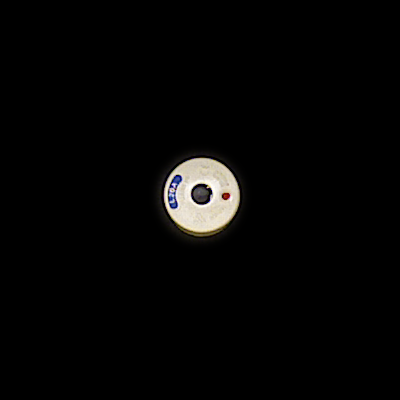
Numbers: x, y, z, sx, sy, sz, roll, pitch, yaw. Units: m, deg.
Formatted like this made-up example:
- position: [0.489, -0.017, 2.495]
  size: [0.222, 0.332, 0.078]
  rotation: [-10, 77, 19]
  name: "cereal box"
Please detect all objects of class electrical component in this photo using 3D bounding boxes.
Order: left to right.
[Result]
- position: [0.000, 0.000, 0.617]
  size: [0.040, 0.040, 0.078]
  rotation: [0, -6, 0]
  name: "electrical component"
